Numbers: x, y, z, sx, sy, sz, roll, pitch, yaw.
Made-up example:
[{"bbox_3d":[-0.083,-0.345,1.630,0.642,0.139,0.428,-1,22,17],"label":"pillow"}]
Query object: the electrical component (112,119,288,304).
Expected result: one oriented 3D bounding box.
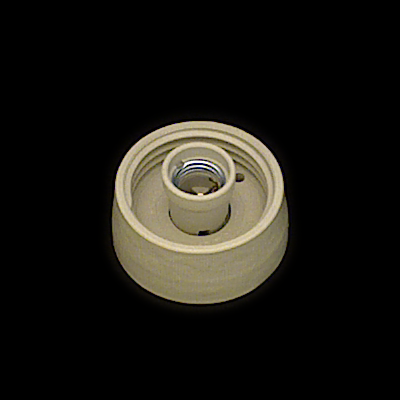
[{"bbox_3d":[0.000,0.000,0.635,0.108,0.107,0.060,0,-37,0],"label":"electrical component"}]
